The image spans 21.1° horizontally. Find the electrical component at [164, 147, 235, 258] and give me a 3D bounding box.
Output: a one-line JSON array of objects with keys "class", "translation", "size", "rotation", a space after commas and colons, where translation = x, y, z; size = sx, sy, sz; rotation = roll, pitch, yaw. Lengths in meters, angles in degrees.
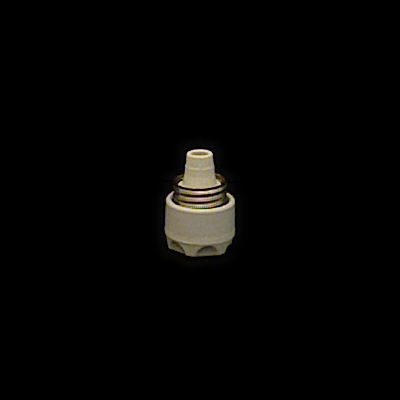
[{"class": "electrical component", "translation": [0.000, 0.000, 0.647], "size": [0.043, 0.063, 0.043], "rotation": [0, 21, 0]}]
